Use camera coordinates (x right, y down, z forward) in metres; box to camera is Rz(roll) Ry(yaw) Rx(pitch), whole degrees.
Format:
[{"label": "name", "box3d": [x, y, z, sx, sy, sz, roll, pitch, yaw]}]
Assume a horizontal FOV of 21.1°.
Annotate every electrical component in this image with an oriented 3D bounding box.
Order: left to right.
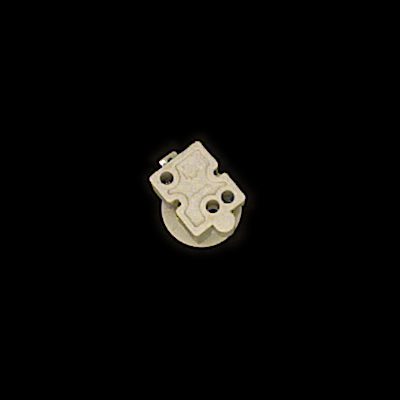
[{"label": "electrical component", "box3d": [0.000, 0.000, 0.637, 0.048, 0.066, 0.055, -37, -13, -8]}]
